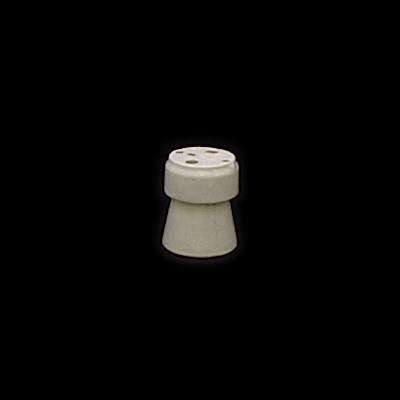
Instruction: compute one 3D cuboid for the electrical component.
[{"bbox_3d":[0.000,0.000,0.641,0.045,0.056,0.044,2,21,0],"label":"electrical component"}]
